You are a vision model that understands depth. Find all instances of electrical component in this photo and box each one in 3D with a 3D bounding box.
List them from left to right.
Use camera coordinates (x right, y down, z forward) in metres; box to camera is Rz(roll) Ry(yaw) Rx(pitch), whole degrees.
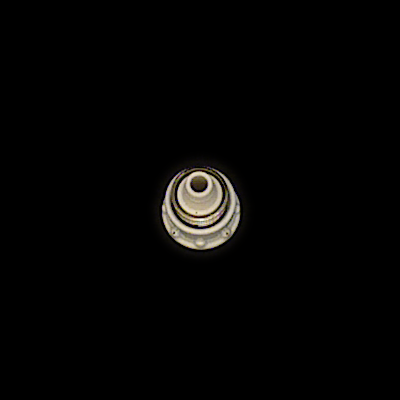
[{"bbox_3d":[0.000,0.000,0.633,0.048,0.048,0.061,0,-17,0],"label":"electrical component"}]
